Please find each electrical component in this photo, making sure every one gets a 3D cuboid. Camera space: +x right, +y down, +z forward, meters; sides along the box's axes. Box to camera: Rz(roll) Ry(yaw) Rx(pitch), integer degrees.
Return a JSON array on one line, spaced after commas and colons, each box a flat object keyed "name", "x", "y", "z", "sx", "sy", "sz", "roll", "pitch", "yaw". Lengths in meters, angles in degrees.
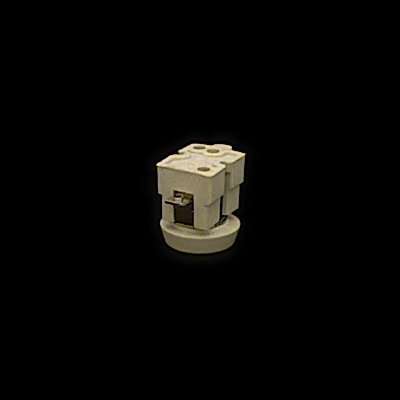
[{"name": "electrical component", "x": 0.000, "y": 0.000, "z": 0.648, "sx": 0.048, "sy": 0.056, "sz": 0.066, "roll": 14, "pitch": 26, "yaw": 26}]
